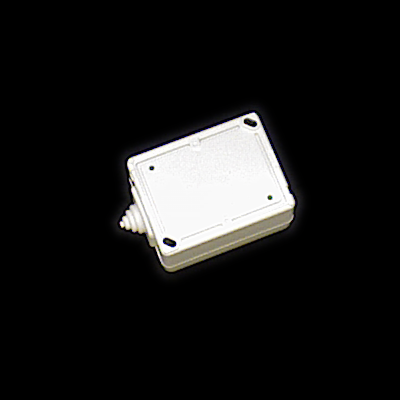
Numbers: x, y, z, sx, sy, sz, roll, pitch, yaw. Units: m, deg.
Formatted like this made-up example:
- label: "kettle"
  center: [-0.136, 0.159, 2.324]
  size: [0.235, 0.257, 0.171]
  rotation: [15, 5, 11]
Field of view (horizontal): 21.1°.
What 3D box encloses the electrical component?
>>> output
- label: "electrical component"
  center: [0.000, 0.000, 0.624]
  size: [0.096, 0.062, 0.060]
  rotation: [-21, -15, -7]
